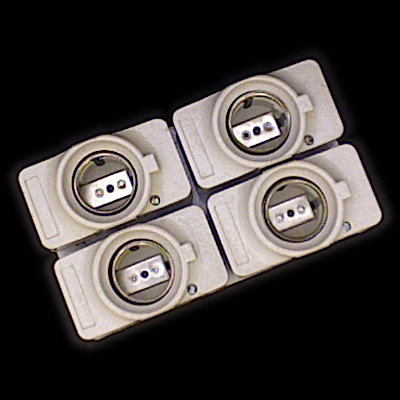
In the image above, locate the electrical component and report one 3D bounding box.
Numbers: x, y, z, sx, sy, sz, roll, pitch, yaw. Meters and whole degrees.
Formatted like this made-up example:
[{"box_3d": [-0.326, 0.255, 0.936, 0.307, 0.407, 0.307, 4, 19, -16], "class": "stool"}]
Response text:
[{"box_3d": [0.000, 0.000, 0.626, 0.186, 0.106, 0.060, -22, -6, -3], "class": "electrical component"}]
